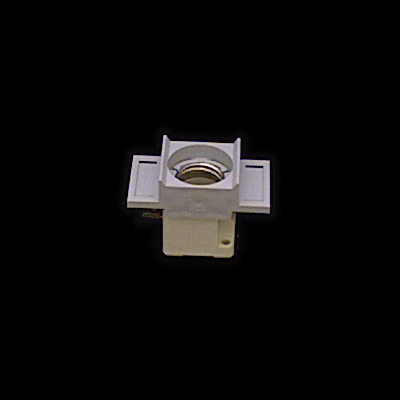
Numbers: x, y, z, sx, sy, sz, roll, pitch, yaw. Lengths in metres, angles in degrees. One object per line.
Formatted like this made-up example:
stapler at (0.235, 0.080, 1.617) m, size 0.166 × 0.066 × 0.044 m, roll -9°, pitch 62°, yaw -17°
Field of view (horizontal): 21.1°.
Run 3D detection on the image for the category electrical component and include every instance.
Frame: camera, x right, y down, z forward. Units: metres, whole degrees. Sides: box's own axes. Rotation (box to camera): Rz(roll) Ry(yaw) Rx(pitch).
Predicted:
electrical component at (0.000, 0.000, 0.628) m, size 0.081 × 0.064 × 0.042 m, roll 2°, pitch 43°, yaw 1°
